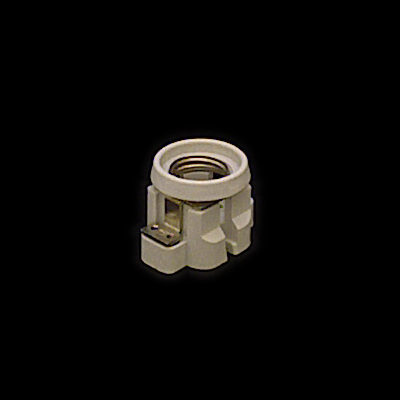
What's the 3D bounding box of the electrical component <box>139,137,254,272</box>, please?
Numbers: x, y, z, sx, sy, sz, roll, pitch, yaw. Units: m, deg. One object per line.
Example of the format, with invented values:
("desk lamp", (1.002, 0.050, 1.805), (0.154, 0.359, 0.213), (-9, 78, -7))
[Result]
("electrical component", (0.000, 0.000, 0.633), (0.057, 0.057, 0.078), (26, 39, 35))
